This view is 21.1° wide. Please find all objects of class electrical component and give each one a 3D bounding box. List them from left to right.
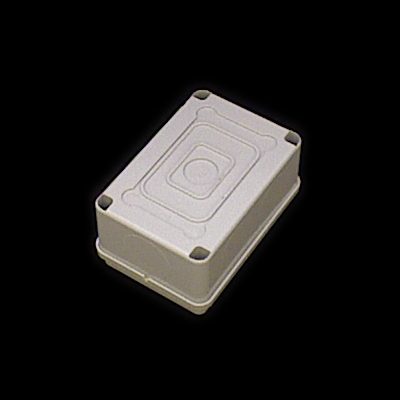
[{"bbox_3d":[0.000,0.000,0.629,0.078,0.113,0.057,28,-33,19],"label":"electrical component"}]
